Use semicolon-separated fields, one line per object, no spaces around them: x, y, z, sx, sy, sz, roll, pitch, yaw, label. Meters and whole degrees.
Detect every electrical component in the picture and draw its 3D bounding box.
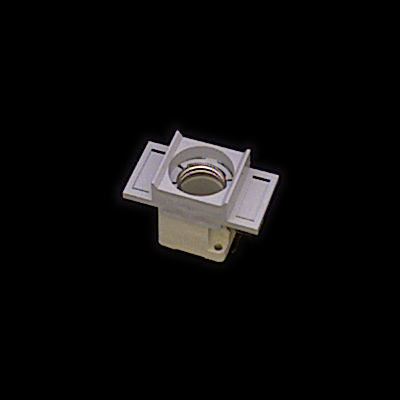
0.000;0.000;0.626;0.081;0.042;0.064;16;-37;12;electrical component
